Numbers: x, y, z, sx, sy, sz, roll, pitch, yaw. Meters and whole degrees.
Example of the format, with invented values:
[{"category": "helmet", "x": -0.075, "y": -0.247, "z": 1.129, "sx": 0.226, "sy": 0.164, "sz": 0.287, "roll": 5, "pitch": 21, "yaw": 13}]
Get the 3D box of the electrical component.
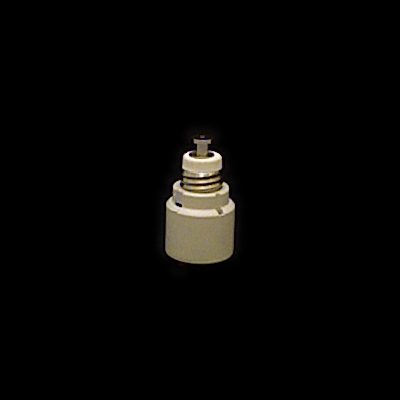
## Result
[{"category": "electrical component", "x": 0.000, "y": 0.000, "z": 0.637, "sx": 0.040, "sy": 0.079, "sz": 0.039, "roll": 2, "pitch": 22, "yaw": 0}]
